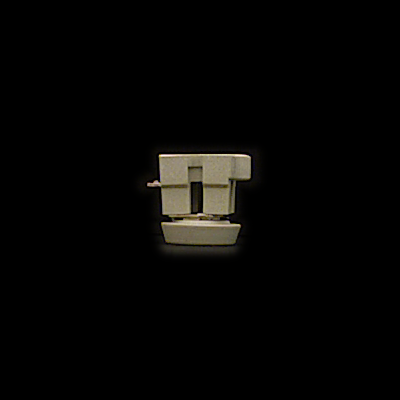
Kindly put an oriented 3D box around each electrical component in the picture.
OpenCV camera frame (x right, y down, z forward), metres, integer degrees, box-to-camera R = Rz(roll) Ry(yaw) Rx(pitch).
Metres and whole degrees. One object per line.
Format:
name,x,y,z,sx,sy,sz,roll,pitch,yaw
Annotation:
electrical component,0.000,0.000,0.657,0.066,0.055,0.048,1,3,8
